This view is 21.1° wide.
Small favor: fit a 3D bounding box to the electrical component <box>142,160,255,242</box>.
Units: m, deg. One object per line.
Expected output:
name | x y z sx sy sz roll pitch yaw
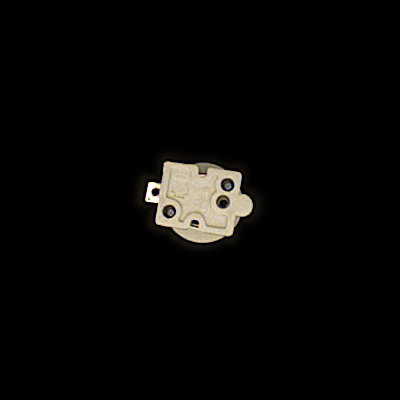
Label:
electrical component | 0.000 0.000 0.639 0.066 0.048 0.055 9 -4 2
